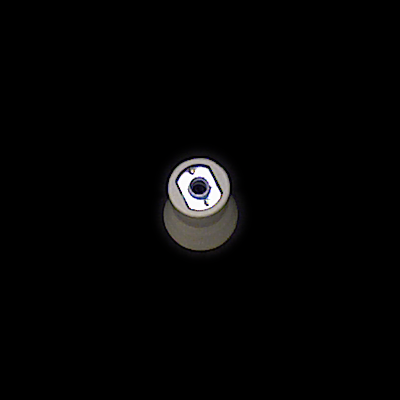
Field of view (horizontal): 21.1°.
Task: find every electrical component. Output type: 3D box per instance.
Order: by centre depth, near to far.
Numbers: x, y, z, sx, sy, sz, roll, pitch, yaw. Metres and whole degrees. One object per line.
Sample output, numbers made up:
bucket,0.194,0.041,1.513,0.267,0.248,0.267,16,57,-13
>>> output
electrical component,0.000,0.000,0.624,0.044,0.044,0.065,0,-16,1
